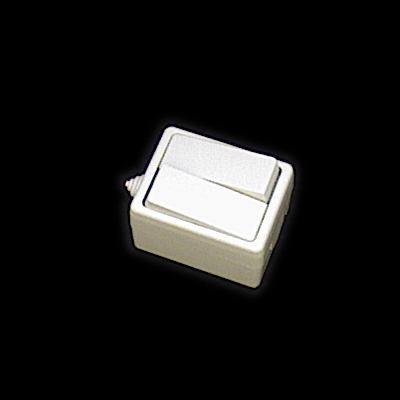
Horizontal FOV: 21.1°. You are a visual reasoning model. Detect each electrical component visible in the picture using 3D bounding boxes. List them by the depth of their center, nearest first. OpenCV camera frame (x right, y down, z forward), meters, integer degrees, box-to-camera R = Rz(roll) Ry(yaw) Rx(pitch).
[{"bbox_3d":[0.000,0.000,0.627,0.096,0.062,0.061,19,-26,9],"label":"electrical component"}]
